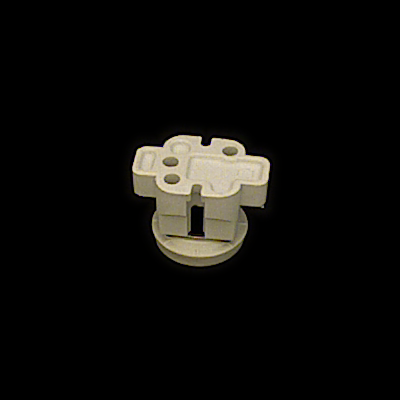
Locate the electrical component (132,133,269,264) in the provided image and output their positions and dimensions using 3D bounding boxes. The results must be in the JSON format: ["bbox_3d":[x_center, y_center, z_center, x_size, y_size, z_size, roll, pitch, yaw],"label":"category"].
[{"bbox_3d":[0.000,0.000,0.640,0.078,0.057,0.057,5,42,3],"label":"electrical component"}]
